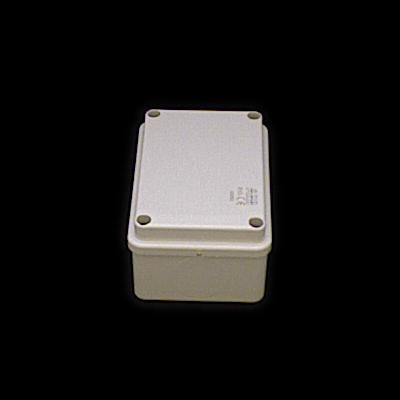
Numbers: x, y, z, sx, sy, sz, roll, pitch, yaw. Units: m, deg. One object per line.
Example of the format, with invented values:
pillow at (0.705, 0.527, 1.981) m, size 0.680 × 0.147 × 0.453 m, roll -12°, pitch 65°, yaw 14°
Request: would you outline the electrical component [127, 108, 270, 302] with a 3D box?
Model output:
electrical component at (0.000, 0.000, 0.631) m, size 0.078 × 0.057 × 0.112 m, roll 1°, pitch 42°, yaw 1°
